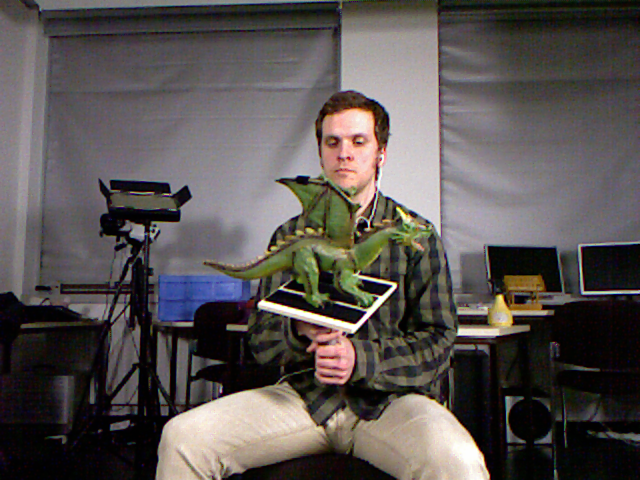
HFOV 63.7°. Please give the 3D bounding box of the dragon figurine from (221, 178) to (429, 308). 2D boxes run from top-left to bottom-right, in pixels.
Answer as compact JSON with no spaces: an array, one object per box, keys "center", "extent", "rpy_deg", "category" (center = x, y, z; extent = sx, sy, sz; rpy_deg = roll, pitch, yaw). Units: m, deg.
[{"center":[-0.009,-0.005,0.955],"extent":[0.411,0.239,0.125],"rpy_deg":[5,26,12],"category":"dragon figurine"}]
